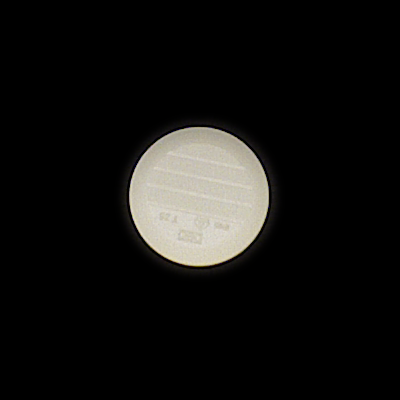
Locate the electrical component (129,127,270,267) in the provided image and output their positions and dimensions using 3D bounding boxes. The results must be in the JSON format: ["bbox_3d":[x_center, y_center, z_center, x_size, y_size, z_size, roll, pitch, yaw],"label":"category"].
[{"bbox_3d":[0.000,0.000,0.631,0.080,0.080,0.050,0,-7,0],"label":"electrical component"}]
